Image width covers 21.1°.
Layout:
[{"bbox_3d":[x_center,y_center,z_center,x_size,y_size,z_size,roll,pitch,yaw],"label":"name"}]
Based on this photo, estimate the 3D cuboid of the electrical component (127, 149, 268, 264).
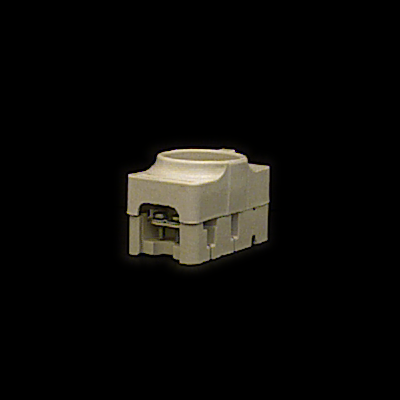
[{"bbox_3d":[0.000,0.000,0.651,0.049,0.056,0.090,8,13,31],"label":"electrical component"}]
